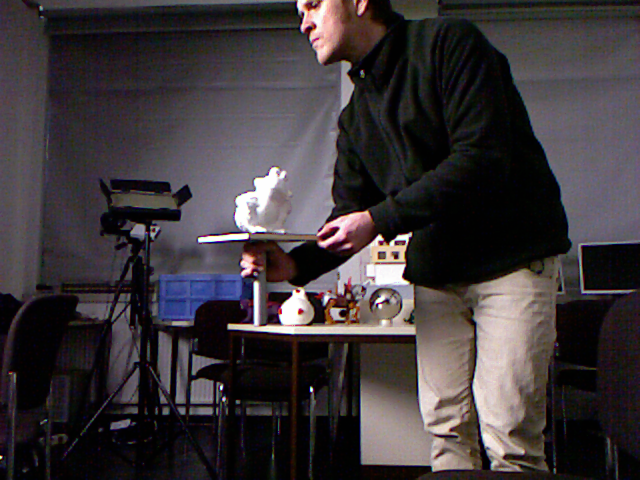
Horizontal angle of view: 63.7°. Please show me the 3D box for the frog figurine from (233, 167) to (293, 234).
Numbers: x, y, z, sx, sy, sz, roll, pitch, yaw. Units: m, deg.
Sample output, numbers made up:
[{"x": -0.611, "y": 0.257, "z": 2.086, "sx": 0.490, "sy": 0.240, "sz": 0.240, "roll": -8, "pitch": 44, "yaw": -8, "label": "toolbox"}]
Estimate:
[{"x": -0.129, "y": -0.088, "z": 1.184, "sx": 0.137, "sy": 0.159, "sz": 0.123, "roll": 1, "pitch": 1, "yaw": -18, "label": "frog figurine"}]
